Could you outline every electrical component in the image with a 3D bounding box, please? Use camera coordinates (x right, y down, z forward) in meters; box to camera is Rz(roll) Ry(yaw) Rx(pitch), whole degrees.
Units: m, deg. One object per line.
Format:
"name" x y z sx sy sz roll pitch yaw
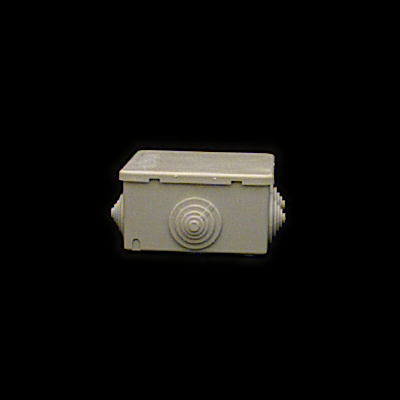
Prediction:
"electrical component" 0.000 0.000 0.652 0.099 0.049 0.099 2 11 3
